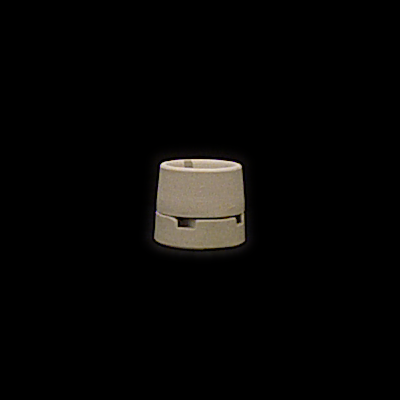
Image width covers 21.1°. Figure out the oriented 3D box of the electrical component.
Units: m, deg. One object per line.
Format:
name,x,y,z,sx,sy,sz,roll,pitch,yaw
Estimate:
electrical component,0.000,0.000,0.647,0.055,0.047,0.055,1,10,0
